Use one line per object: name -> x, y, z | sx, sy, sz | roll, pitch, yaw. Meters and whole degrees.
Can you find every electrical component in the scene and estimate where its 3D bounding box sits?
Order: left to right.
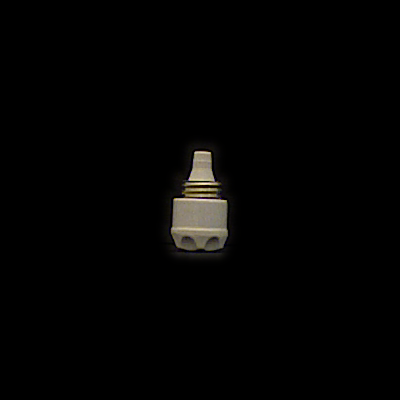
electrical component -> 0.000, 0.000, 0.663 | 0.035, 0.061, 0.035 | 3, 2, 0
